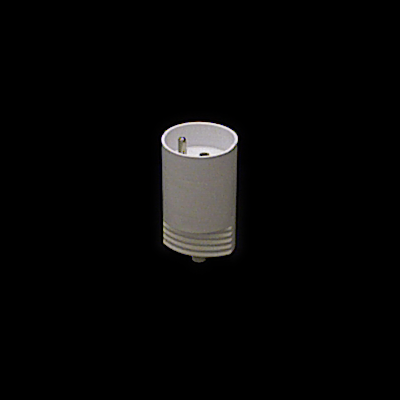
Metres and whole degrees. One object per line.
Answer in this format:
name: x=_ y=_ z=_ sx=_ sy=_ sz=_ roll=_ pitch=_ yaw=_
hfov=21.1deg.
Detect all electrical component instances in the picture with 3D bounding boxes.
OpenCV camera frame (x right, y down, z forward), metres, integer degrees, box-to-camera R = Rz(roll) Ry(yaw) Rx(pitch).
electrical component: x=0.000 y=0.000 z=0.627 sx=0.043 sy=0.082 sz=0.042 roll=0 pitch=31 yaw=0
